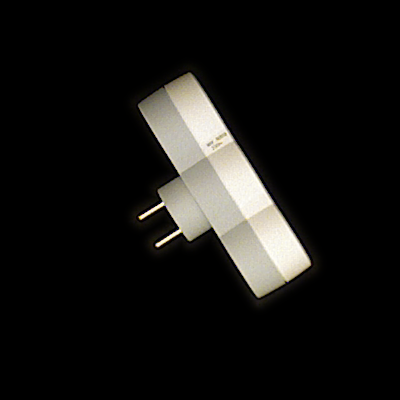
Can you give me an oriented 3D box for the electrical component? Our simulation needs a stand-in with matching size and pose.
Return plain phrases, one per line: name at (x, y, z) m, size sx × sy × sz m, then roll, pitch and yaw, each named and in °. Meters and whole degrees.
electrical component at (0.000, 0.000, 0.639) m, size 0.074 × 0.138 × 0.052 m, roll -32°, pitch -5°, yaw -1°
